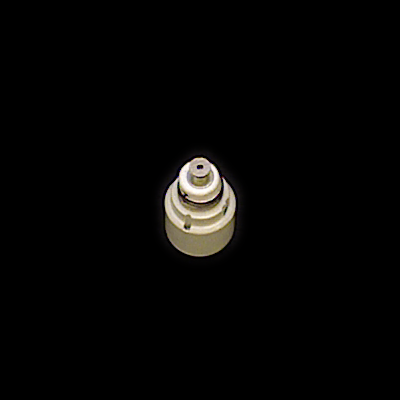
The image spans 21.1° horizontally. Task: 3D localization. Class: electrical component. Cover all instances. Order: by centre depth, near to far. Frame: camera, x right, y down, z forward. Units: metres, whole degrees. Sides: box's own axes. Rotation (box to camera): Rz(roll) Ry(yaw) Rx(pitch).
[{"bbox_3d":[0.000,0.000,0.618,0.040,0.040,0.078,0,-28,0],"label":"electrical component"}]
